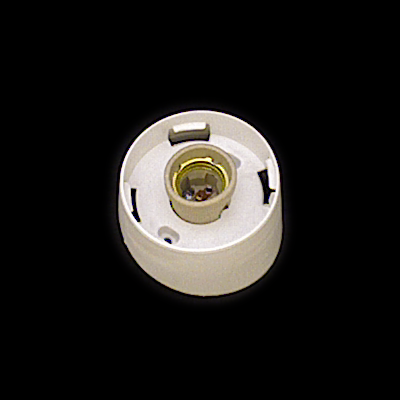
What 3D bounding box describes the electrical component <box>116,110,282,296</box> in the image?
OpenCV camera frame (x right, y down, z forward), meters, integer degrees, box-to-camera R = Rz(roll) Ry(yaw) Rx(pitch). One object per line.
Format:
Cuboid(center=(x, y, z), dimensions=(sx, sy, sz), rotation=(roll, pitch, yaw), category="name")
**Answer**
Cuboid(center=(0.000, 0.000, 0.625), dimensions=(0.099, 0.099, 0.064), rotation=(0, -27, 0), category="electrical component")
